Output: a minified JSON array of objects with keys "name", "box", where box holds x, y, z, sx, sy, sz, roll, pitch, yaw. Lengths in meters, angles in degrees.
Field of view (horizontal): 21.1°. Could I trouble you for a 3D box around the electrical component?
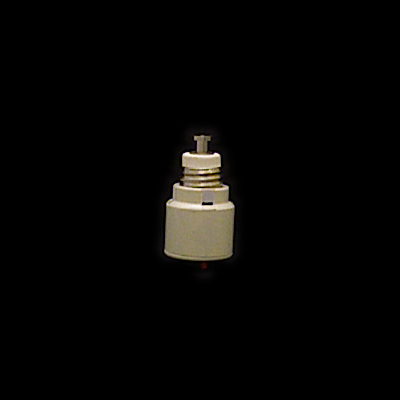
[{"name":"electrical component","box":[0.000,0.000,0.642,0.040,0.079,0.040,2,11,0]}]
